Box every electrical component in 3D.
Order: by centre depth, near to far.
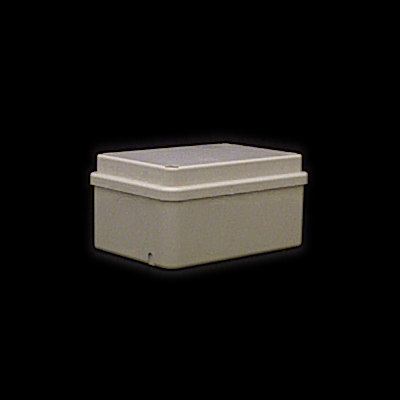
[{"bbox_3d":[0.000,0.000,0.646,0.113,0.057,0.077,-8,14,-41],"label":"electrical component"}]
